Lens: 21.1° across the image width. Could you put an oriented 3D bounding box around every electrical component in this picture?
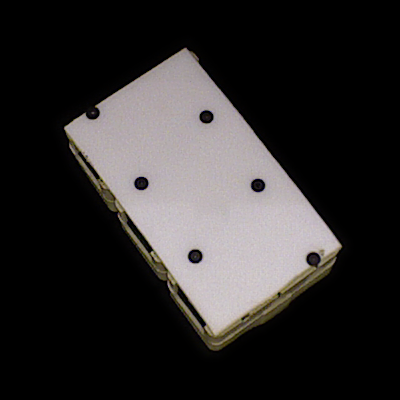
[{"bbox_3d":[0.000,0.000,0.630,0.090,0.149,0.062,-34,-14,-10],"label":"electrical component"}]
